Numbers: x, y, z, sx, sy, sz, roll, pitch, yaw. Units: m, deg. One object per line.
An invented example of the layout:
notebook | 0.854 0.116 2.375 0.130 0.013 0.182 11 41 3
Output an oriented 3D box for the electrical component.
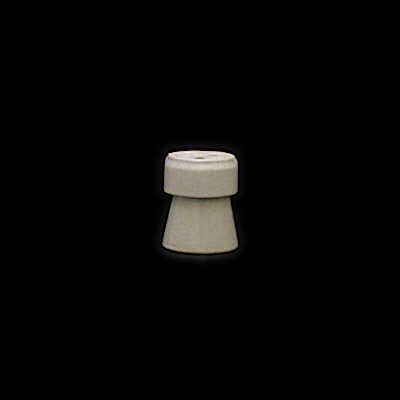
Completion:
electrical component | 0.000 0.000 0.643 0.045 0.055 0.044 1 11 0
